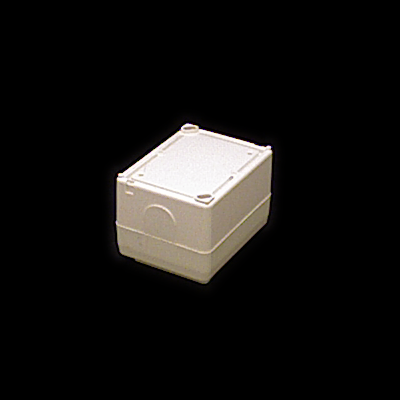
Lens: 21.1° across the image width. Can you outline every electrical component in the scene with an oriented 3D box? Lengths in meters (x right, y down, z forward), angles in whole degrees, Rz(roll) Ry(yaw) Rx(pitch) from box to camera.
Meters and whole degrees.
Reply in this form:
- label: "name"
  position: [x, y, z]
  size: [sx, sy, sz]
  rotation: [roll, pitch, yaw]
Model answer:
- label: "electrical component"
  position: [0.000, 0.000, 0.635]
  size: [0.061, 0.061, 0.095]
  rotation: [17, 34, 25]
